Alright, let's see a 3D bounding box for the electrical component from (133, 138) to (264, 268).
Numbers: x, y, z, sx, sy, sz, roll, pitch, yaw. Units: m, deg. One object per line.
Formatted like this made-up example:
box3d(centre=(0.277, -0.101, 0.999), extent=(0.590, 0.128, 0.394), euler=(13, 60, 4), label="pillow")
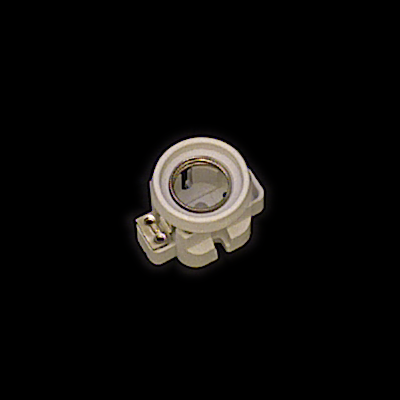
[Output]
box3d(centre=(0.000, 0.000, 0.627), extent=(0.079, 0.058, 0.056), euler=(-27, -24, -13), label="electrical component")
